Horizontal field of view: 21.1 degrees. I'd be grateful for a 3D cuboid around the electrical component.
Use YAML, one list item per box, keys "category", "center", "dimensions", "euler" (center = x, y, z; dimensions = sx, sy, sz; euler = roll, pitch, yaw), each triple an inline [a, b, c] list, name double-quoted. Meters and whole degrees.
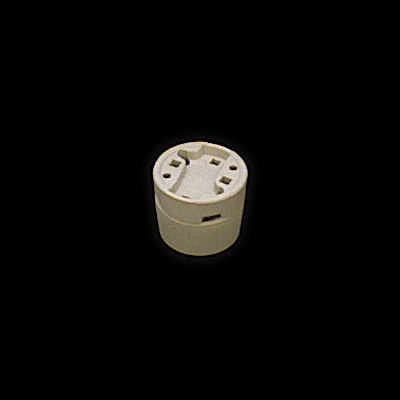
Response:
- category: "electrical component"
  center: [0.000, 0.000, 0.637]
  dimensions: [0.055, 0.047, 0.055]
  euler: [1, 43, 0]
